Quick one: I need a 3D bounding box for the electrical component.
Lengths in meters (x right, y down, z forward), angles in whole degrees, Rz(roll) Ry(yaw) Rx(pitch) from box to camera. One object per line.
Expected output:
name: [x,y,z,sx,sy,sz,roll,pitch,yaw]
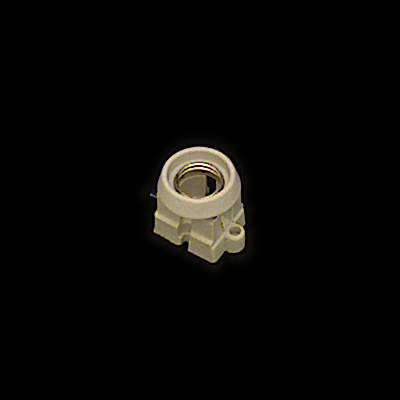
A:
electrical component: [0.000,0.000,0.638,0.066,0.048,0.055,26,-35,18]
